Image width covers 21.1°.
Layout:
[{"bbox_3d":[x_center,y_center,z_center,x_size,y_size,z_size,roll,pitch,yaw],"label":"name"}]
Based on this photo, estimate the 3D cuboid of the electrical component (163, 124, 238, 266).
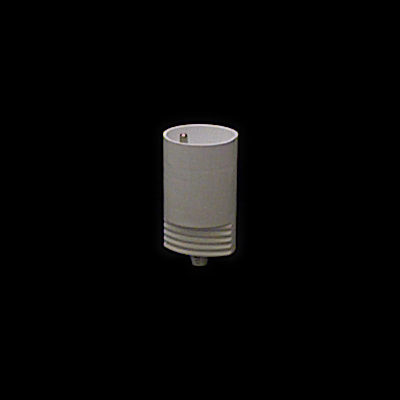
[{"bbox_3d":[0.000,0.000,0.633,0.043,0.082,0.042,1,20,0],"label":"electrical component"}]
